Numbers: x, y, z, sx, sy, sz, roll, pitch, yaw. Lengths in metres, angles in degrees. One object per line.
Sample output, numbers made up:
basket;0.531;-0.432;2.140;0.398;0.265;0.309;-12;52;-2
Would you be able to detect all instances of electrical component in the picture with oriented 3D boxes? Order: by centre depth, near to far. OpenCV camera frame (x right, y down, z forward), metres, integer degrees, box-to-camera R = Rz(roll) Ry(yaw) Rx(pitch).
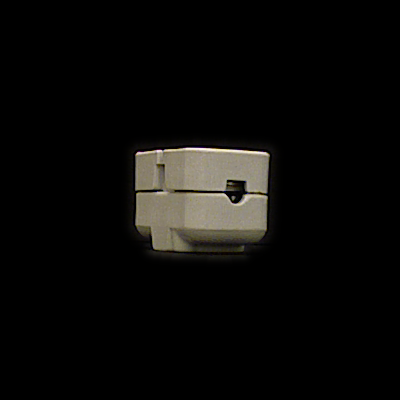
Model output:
electrical component;0.000;0.000;0.654;0.054;0.059;0.094;1;1;-28
